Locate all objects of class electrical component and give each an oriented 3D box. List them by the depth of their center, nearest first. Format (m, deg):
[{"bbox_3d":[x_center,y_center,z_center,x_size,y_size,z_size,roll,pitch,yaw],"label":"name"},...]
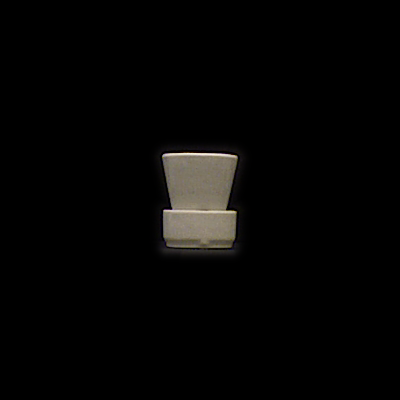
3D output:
[{"bbox_3d":[0.000,0.000,0.648,0.045,0.055,0.045,1,1,0],"label":"electrical component"}]
